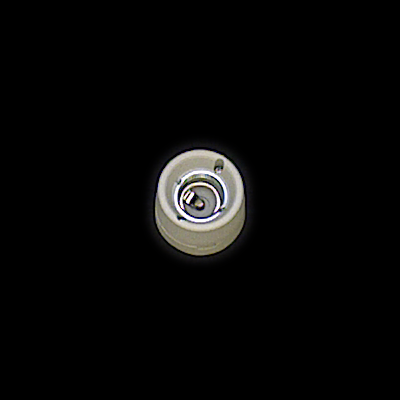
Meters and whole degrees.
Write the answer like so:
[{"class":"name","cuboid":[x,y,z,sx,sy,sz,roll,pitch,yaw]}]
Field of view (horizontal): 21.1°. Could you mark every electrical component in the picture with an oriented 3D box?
[{"class":"electrical component","cuboid":[0.000,0.000,0.633,0.055,0.056,0.047,0,-17,-1]}]
